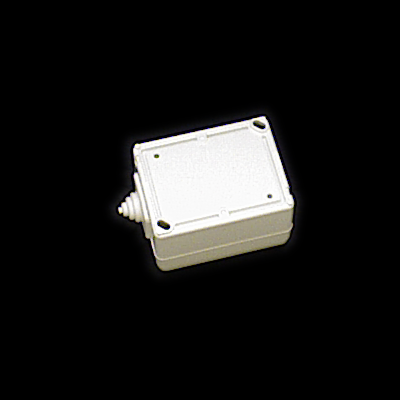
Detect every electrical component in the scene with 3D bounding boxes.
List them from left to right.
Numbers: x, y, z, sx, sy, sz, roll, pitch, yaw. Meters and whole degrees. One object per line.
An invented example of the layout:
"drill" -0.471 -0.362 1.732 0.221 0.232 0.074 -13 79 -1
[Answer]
"electrical component" 0.000 0.000 0.624 0.096 0.062 0.060 -13 -26 -7
